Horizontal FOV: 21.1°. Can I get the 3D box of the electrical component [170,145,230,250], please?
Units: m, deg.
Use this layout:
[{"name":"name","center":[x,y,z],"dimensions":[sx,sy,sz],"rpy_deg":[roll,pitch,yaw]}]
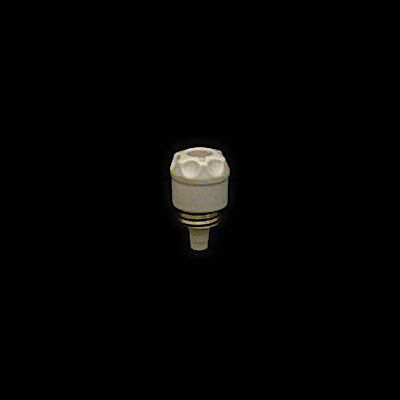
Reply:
[{"name":"electrical component","center":[0.000,0.000,0.643],"dimensions":[0.035,0.062,0.035],"rpy_deg":[1,22,0]}]
